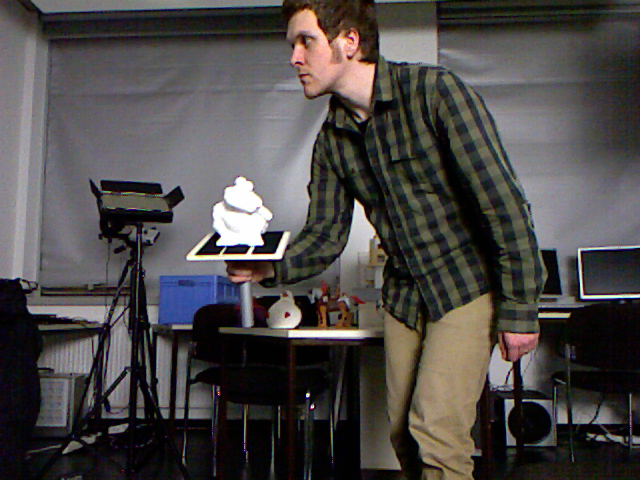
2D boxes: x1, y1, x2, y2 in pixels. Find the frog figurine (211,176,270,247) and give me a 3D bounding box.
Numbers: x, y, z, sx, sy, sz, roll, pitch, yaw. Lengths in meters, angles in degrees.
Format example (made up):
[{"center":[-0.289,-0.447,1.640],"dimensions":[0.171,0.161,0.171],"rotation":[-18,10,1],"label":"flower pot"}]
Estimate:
[{"center":[-0.183,-0.071,1.170],"dimensions":[0.138,0.158,0.125],"rotation":[6,18,20],"label":"frog figurine"}]
